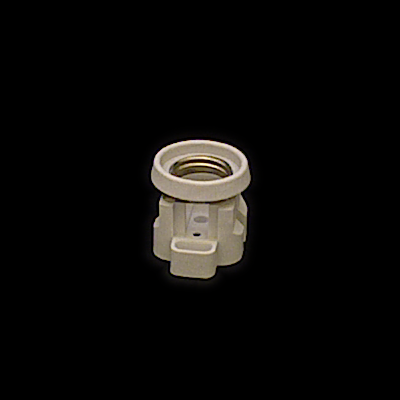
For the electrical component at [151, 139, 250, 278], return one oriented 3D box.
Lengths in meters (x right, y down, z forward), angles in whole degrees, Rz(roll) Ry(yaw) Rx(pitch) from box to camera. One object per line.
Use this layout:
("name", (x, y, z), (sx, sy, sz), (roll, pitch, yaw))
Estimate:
("electrical component", (0.000, 0.000, 0.636), (0.058, 0.057, 0.077), (5, 32, 6))
